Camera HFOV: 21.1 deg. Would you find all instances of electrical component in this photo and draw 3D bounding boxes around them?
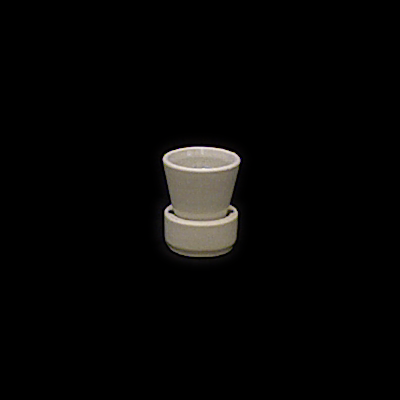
[{"bbox_3d":[0.000,0.000,0.640,0.045,0.056,0.044,1,21,0],"label":"electrical component"}]
